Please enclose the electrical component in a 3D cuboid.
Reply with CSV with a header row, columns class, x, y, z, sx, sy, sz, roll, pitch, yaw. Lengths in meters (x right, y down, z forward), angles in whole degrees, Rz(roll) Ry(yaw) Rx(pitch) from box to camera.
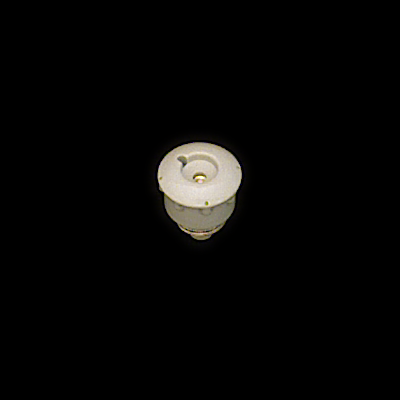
class,x,y,z,sx,sy,sz,roll,pitch,yaw
electrical component,0.000,0.000,0.634,0.048,0.048,0.062,0,-37,0
